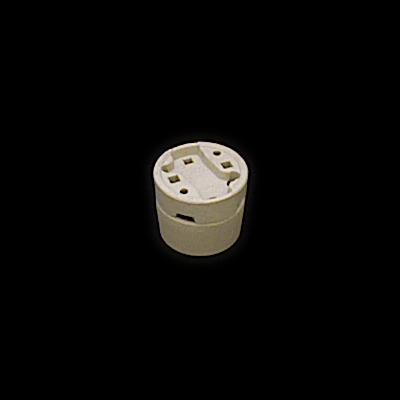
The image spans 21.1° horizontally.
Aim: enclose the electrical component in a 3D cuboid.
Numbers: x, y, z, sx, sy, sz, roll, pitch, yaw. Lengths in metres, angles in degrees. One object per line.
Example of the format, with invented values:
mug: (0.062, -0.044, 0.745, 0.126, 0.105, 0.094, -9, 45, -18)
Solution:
electrical component: (0.000, 0.000, 0.636, 0.055, 0.047, 0.055, 1, 42, 0)
